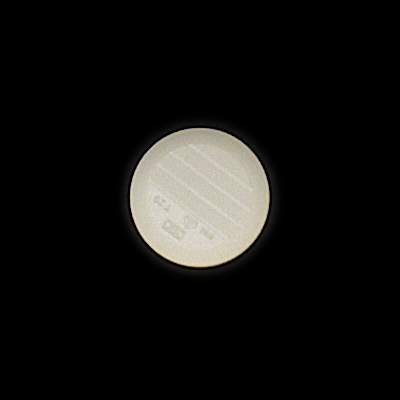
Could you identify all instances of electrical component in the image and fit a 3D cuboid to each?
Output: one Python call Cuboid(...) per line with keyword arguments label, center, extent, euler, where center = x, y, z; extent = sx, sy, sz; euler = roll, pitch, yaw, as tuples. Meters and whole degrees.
Cuboid(label="electrical component", center=(0.000, 0.000, 0.631), extent=(0.080, 0.080, 0.050), euler=(0, -7, 0))
